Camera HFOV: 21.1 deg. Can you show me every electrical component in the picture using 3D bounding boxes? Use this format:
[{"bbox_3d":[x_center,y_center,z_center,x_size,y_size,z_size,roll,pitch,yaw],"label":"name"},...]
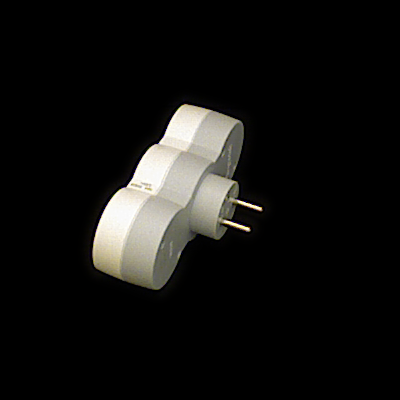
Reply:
[{"bbox_3d":[0.000,0.000,0.639,0.073,0.052,0.138,18,45,16],"label":"electrical component"}]
